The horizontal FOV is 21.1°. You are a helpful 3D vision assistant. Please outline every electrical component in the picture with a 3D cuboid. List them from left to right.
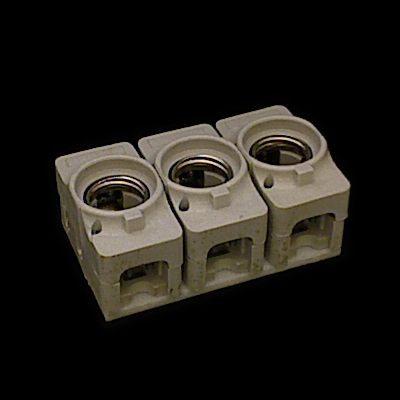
[{"bbox_3d":[0.000,0.000,0.636,0.150,0.063,0.088,-15,45,-17],"label":"electrical component"}]
